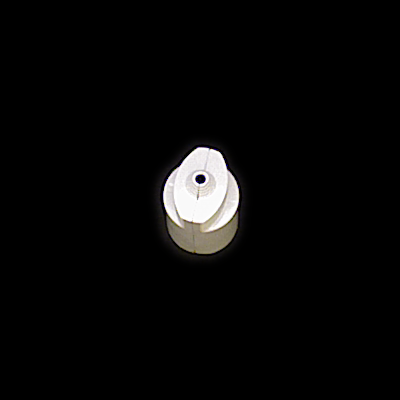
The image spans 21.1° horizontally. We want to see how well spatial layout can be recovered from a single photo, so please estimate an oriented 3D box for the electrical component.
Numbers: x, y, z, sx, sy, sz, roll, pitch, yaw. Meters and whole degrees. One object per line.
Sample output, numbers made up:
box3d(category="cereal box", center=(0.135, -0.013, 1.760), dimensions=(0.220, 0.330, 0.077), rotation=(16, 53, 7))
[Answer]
box3d(category="electrical component", center=(0.000, 0.000, 0.616), dimensions=(0.043, 0.043, 0.080), rotation=(0, -17, 0))
